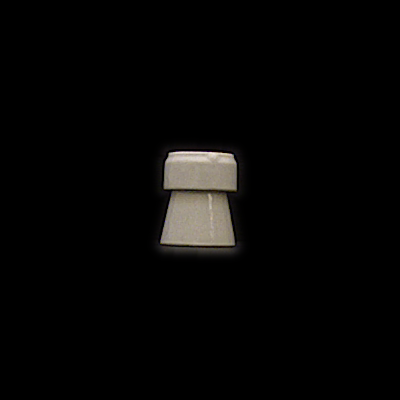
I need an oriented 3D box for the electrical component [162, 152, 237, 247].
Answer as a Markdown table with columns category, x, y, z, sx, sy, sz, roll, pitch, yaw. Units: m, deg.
| category | x | y | z | sx | sy | sz | roll | pitch | yaw |
| --- | --- | --- | --- | --- | --- | --- | --- | --- | --- |
| electrical component | 0.000 | 0.000 | 0.650 | 0.045 | 0.055 | 0.045 | 2 | 1 | 0 |
